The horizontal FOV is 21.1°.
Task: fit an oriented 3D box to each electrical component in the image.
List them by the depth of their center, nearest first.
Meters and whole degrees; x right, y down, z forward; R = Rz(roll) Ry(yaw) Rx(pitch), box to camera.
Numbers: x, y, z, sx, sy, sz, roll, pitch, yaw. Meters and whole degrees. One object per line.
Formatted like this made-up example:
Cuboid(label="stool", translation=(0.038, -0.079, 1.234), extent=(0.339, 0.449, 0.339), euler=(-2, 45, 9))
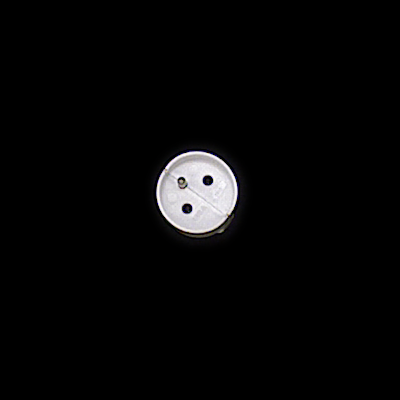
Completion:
Cuboid(label="electrical component", translation=(0.000, 0.000, 0.615), extent=(0.043, 0.043, 0.080), euler=(0, -7, 0))
